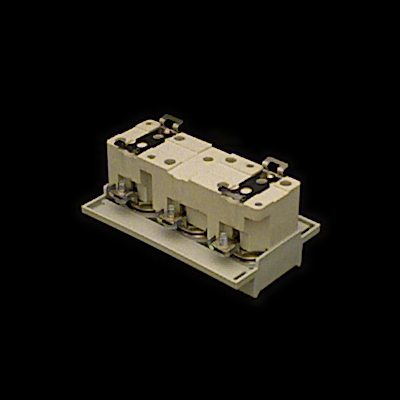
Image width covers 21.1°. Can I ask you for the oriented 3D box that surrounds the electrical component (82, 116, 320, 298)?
[{"bbox_3d":[0.000,0.000,0.638,0.120,0.064,0.079,24,40,33],"label":"electrical component"}]
